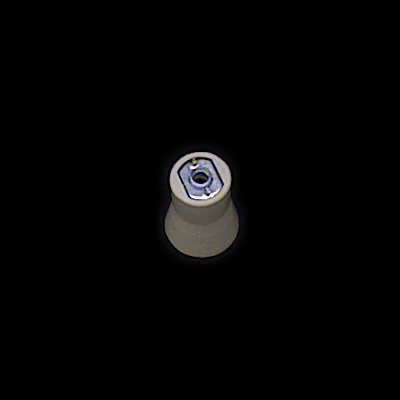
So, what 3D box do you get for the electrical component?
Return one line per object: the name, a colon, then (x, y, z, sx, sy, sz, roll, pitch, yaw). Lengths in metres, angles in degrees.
electrical component: (0.000, 0.000, 0.625, 0.044, 0.044, 0.065, 0, -26, 1)
